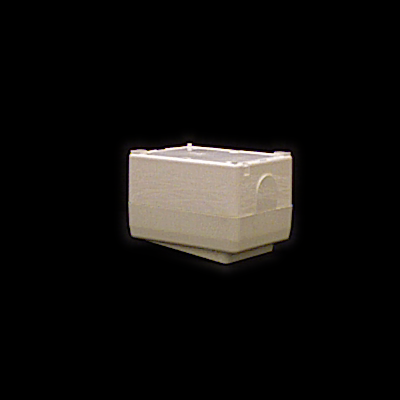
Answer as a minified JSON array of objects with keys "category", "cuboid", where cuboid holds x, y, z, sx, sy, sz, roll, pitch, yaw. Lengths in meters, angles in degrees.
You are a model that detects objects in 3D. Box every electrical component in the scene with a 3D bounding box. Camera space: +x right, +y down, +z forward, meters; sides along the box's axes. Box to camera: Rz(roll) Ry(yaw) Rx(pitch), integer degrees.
[{"category":"electrical component","cuboid":[0.000,0.000,0.648,0.096,0.061,0.061,8,12,36]}]
